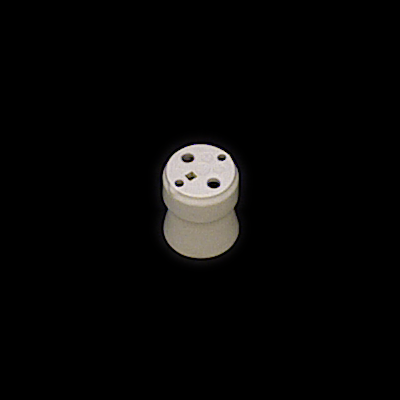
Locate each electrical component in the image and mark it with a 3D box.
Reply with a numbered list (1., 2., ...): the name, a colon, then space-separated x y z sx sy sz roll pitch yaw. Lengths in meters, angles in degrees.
1. electrical component: 0.000 0.000 0.631 0.045 0.044 0.055 0 -38 0
